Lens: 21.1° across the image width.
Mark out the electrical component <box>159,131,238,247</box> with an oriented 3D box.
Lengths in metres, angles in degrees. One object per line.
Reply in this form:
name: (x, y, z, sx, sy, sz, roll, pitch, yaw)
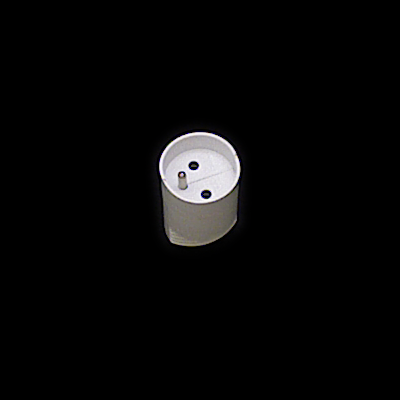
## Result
electrical component: (0.000, 0.000, 0.615, 0.043, 0.043, 0.081, 0, -28, 1)
